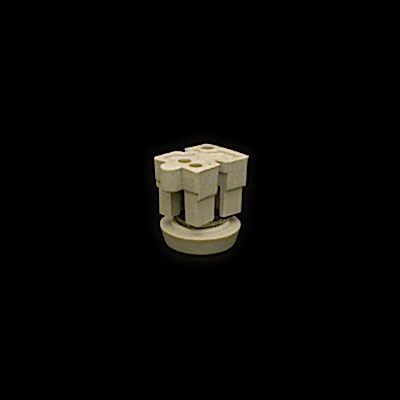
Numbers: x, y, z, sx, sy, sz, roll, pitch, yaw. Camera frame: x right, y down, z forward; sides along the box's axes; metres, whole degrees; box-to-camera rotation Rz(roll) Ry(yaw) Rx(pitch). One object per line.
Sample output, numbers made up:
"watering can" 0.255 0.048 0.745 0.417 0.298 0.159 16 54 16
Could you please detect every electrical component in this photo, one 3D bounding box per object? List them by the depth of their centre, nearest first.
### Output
"electrical component" 0.000 0.000 0.646 0.048 0.056 0.067 20 27 41
